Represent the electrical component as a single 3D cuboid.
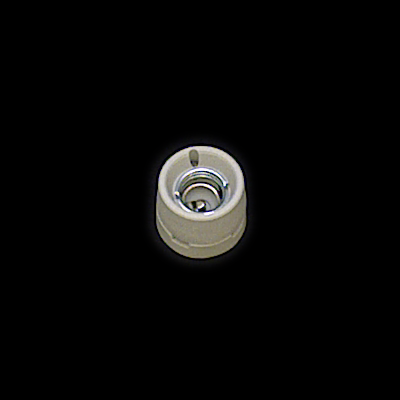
[{"bbox_3d":[0.000,0.000,0.633,0.055,0.055,0.047,0,-28,0],"label":"electrical component"}]
